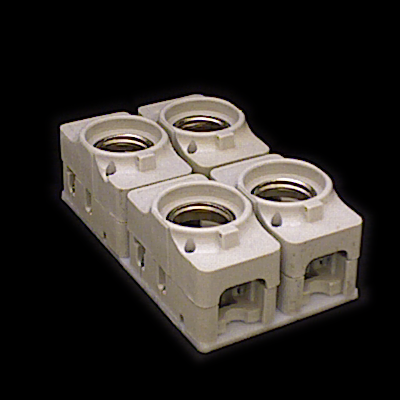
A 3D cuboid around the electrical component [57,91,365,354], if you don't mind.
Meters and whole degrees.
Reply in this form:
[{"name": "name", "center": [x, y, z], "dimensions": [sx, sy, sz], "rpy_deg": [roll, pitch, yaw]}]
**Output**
[{"name": "electrical component", "center": [0.000, 0.000, 0.634], "dimensions": [0.105, 0.061, 0.184], "rpy_deg": [-16, 35, -26]}]
